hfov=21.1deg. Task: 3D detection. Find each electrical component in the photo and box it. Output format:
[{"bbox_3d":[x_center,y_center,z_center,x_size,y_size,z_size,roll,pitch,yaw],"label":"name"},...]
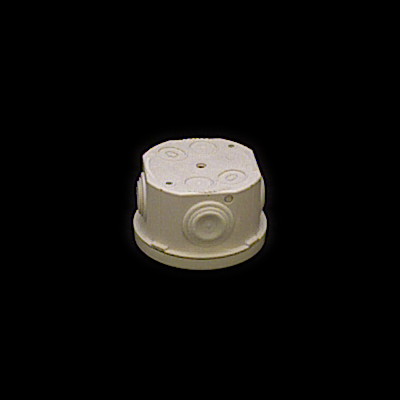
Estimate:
[{"bbox_3d":[0.000,0.000,0.638,0.080,0.051,0.079,1,31,0],"label":"electrical component"}]
